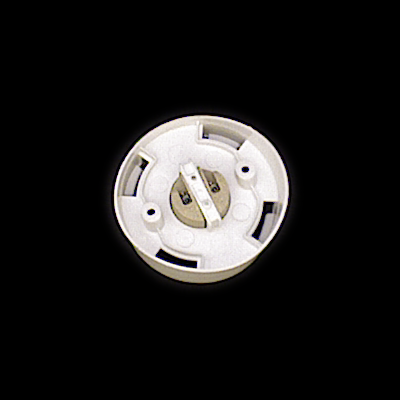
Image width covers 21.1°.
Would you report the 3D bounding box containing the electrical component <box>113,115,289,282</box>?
[{"bbox_3d":[0.000,0.000,0.623,0.099,0.099,0.064,0,-16,-1],"label":"electrical component"}]
